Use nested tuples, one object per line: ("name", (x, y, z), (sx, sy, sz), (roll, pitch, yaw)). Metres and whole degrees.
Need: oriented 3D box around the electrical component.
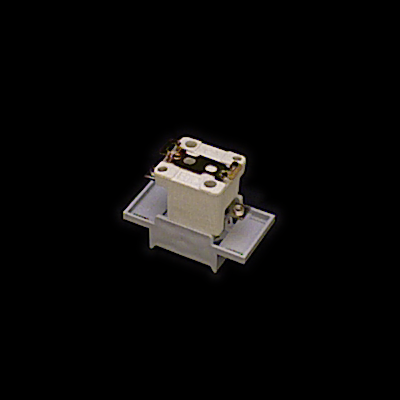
("electrical component", (0.000, 0.000, 0.630), (0.080, 0.064, 0.042), (19, 45, 19))
